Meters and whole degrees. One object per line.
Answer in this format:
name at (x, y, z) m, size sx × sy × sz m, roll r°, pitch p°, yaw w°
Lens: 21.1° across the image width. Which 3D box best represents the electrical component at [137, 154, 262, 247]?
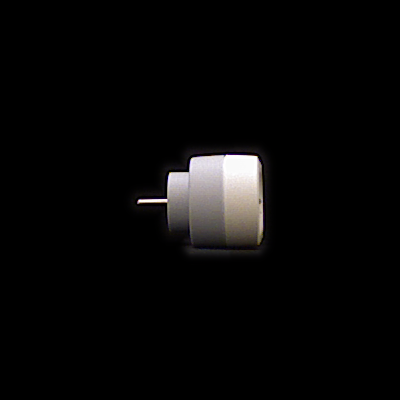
electrical component at (0.000, 0.000, 0.647) m, size 0.074 × 0.052 × 0.138 m, roll -1°, pitch 1°, yaw 4°
